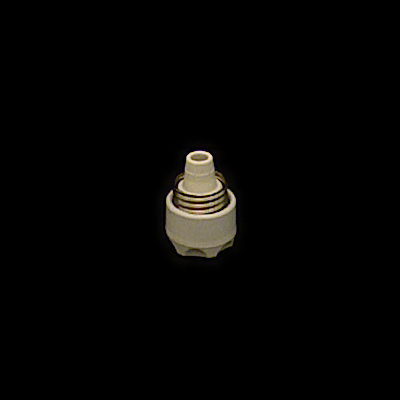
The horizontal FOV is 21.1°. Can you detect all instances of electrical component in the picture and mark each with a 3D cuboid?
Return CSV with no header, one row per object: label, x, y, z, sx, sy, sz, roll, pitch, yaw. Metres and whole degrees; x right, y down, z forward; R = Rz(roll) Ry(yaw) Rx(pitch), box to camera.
electrical component,0.000,0.000,0.641,0.043,0.063,0.043,0,32,1
